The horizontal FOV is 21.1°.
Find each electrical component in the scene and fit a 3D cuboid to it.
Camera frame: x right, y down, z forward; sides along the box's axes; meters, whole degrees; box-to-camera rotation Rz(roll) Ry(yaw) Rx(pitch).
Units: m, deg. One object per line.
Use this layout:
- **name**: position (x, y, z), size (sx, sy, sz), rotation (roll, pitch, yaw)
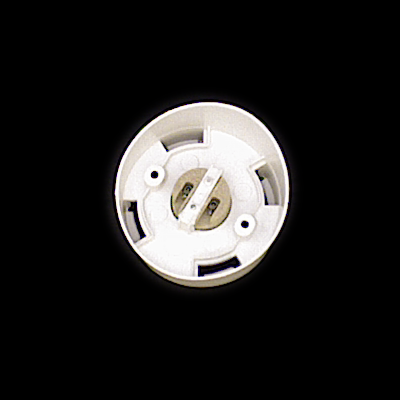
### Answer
- **electrical component**: position (0.000, 0.000, 0.624), size (0.099, 0.099, 0.064), rotation (0, -18, 0)
